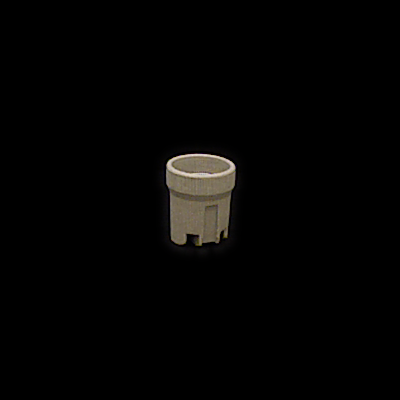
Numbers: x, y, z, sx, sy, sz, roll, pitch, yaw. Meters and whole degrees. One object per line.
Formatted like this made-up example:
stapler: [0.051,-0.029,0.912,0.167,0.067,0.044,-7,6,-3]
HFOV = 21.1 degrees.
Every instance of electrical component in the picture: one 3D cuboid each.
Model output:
electrical component: [0.000,0.000,0.637,0.040,0.047,0.039,1,21,0]
